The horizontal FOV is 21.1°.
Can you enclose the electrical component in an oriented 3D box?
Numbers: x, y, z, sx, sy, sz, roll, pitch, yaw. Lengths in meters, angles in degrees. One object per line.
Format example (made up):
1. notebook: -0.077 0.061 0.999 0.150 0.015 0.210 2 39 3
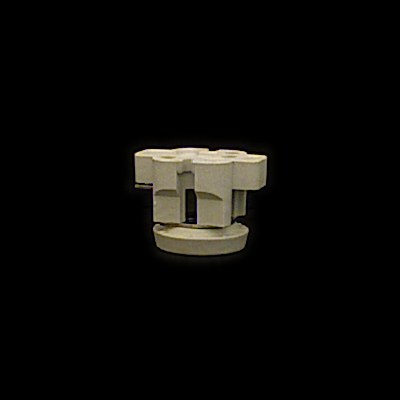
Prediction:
1. electrical component: 0.000 0.000 0.650 0.078 0.057 0.058 3 12 17
